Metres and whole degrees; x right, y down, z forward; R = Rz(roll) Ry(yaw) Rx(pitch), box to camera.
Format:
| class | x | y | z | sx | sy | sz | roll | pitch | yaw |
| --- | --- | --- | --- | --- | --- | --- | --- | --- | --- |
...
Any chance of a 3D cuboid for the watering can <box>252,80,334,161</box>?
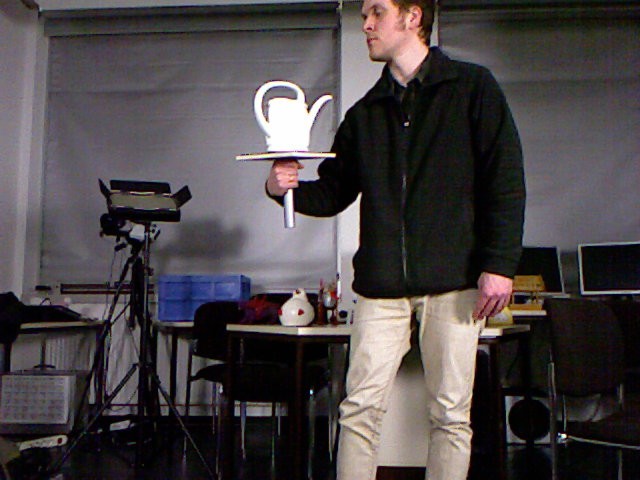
| class | x | y | z | sx | sy | sz | roll | pitch | yaw |
| --- | --- | --- | --- | --- | --- | --- | --- | --- | --- |
| watering can | -0.065 | -0.343 | 1.495 | 0.104 | 0.223 | 0.351 | 7 | 11 | 38 |
